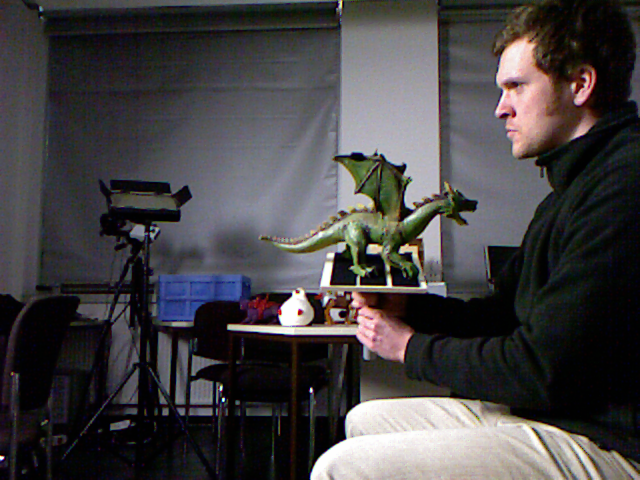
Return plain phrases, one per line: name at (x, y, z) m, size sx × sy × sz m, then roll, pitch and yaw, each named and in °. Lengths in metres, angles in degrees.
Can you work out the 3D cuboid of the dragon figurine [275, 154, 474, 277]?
dragon figurine at (0.092, -0.058, 1.031) m, size 0.411 × 0.239 × 0.124 m, roll 6°, pitch 23°, yaw 15°
